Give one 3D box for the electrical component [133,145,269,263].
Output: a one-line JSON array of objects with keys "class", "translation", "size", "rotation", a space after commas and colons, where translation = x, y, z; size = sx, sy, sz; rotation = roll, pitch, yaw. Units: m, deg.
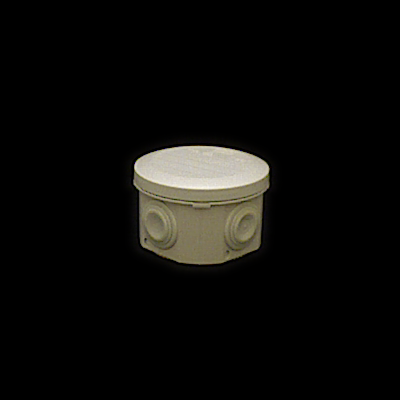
[{"class": "electrical component", "translation": [0.000, 0.000, 0.639], "size": [0.080, 0.051, 0.079], "rotation": [1, 21, 0]}]
